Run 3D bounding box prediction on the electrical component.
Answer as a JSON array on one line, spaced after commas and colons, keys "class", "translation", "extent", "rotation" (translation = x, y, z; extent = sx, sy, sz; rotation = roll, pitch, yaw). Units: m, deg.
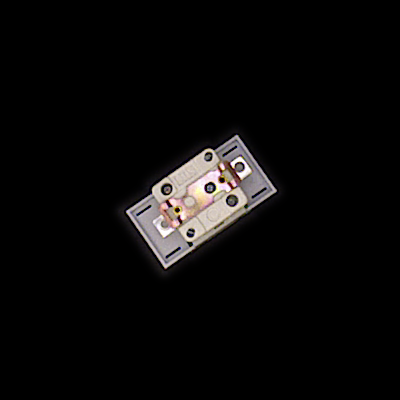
[{"class": "electrical component", "translation": [0.000, 0.000, 0.626], "extent": [0.081, 0.042, 0.063], "rotation": [-35, -5, -4]}]
